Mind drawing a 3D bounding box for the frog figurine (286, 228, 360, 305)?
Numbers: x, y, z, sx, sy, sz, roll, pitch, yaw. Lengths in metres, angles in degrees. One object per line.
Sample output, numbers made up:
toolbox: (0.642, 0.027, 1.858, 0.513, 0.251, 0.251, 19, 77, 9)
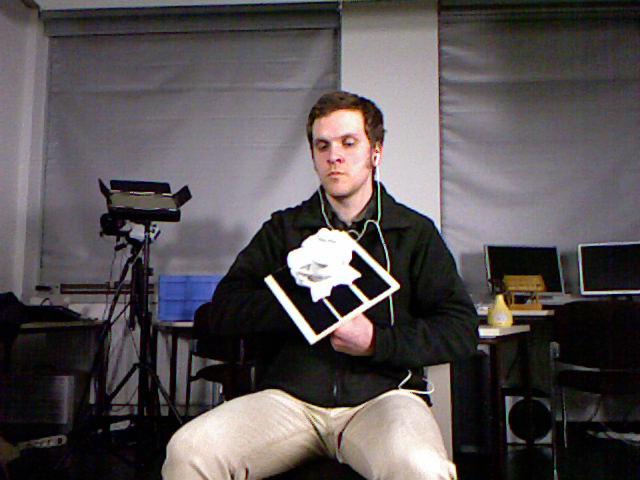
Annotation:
frog figurine: (0.001, 0.027, 0.973, 0.138, 0.156, 0.126, -15, 44, 3)
